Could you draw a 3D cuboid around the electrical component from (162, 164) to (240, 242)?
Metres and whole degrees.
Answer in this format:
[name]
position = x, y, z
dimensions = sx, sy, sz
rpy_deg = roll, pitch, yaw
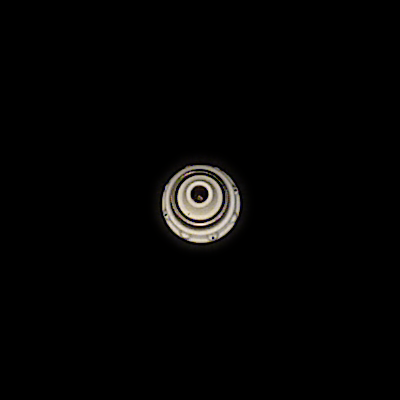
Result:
[electrical component]
position = 0.000, 0.000, 0.635
dimensions = 0.048, 0.048, 0.061
rpy_deg = 0, -6, 0
